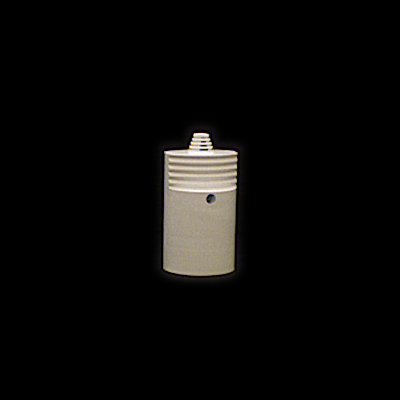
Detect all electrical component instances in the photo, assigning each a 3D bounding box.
[{"bbox_3d":[0.000,0.000,0.642,0.043,0.081,0.043,1,11,0],"label":"electrical component"}]
